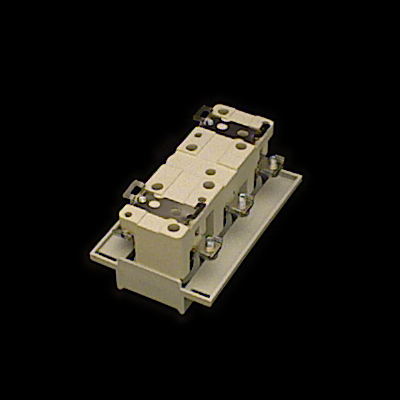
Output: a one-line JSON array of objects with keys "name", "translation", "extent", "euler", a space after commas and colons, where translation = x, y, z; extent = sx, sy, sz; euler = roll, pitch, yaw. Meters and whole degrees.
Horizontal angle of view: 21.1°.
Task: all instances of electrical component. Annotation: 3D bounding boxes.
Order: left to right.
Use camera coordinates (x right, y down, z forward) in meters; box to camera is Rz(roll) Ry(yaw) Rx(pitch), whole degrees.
[{"name": "electrical component", "translation": [0.000, 0.000, 0.638], "extent": [0.078, 0.063, 0.121], "euler": [20, 45, 20]}]
